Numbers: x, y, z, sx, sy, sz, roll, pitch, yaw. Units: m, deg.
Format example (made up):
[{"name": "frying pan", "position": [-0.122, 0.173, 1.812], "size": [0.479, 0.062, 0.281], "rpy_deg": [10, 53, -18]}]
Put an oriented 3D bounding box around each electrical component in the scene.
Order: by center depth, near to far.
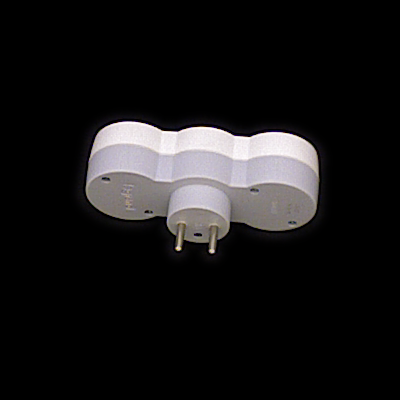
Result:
[{"name": "electrical component", "position": [0.000, 0.000, 0.632], "size": [0.138, 0.073, 0.052], "rpy_deg": [4, -35, 2]}]
